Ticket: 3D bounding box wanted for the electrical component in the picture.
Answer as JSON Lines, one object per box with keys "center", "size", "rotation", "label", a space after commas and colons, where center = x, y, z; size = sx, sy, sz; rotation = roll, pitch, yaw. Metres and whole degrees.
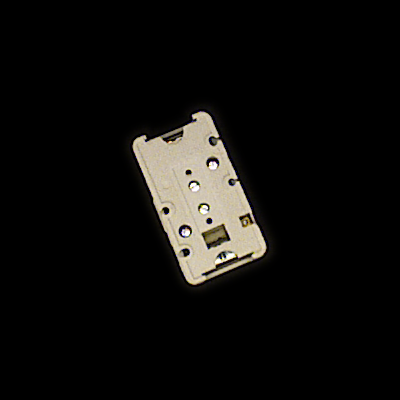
{"center": [0.000, 0.000, 0.637], "size": [0.050, 0.089, 0.055], "rotation": [-23, -5, -2], "label": "electrical component"}
